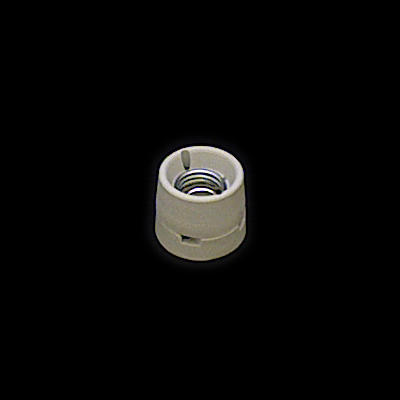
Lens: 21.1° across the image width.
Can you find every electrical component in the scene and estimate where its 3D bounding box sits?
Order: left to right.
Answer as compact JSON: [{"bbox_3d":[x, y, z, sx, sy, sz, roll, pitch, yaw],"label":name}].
[{"bbox_3d":[0.000,0.000,0.635,0.055,0.047,0.055,1,43,0],"label":"electrical component"}]
